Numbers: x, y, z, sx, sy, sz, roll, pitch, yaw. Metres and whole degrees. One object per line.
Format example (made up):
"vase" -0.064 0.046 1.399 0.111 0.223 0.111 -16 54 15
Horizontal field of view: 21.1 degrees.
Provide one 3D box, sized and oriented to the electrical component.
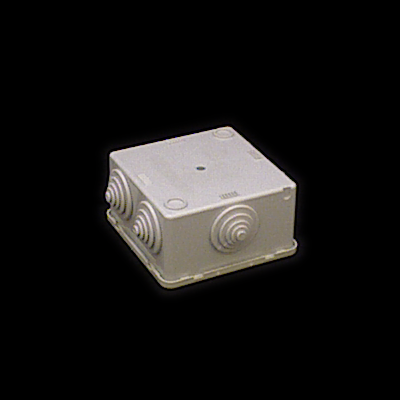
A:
"electrical component" 0.000 0.000 0.636 0.100 0.049 0.098 -14 35 -23
